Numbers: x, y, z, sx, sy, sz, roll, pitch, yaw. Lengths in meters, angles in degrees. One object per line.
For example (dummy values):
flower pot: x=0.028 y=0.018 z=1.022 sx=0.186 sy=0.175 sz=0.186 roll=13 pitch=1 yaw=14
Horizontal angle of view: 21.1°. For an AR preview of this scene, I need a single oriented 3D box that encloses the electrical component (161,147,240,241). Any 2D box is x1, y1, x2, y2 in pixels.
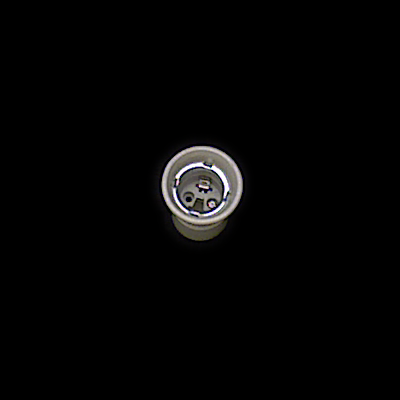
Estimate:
electrical component: x=0.000 y=0.000 z=0.624 sx=0.044 sy=0.044 sz=0.065 roll=0 pitch=-17 yaw=-1
